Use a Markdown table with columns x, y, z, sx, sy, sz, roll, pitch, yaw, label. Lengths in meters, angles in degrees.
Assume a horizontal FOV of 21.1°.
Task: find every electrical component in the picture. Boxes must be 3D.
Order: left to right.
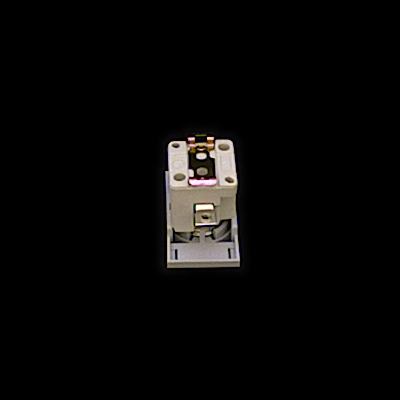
| x | y | z | sx | sy | sz | roll | pitch | yaw | label |
| --- | --- | --- | --- | --- | --- | --- | --- | --- | --- |
| 0.000 | 0.000 | 0.630 | 0.042 | 0.064 | 0.080 | -2 | 42 | -2 | electrical component |
